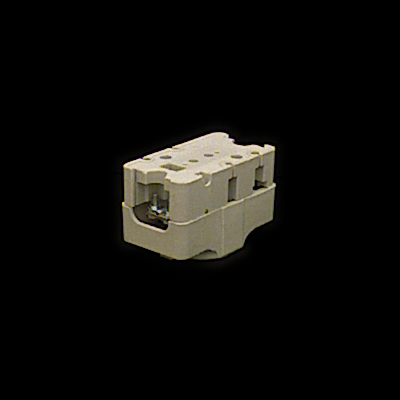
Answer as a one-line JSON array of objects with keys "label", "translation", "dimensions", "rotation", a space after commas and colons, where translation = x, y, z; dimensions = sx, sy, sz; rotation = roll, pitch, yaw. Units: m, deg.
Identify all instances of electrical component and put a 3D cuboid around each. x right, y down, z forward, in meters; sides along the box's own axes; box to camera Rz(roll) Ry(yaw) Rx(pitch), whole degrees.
[{"label": "electrical component", "translation": [0.000, 0.000, 0.646], "dimensions": [0.049, 0.056, 0.090], "rotation": [19, 28, 36]}]
